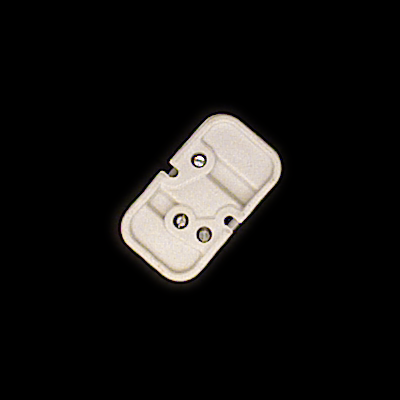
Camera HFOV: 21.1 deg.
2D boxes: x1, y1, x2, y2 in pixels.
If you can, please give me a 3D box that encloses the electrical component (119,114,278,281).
[{"bbox_3d":[0.000,0.000,0.636,0.054,0.095,0.059,40,-5,4],"label":"electrical component"}]
